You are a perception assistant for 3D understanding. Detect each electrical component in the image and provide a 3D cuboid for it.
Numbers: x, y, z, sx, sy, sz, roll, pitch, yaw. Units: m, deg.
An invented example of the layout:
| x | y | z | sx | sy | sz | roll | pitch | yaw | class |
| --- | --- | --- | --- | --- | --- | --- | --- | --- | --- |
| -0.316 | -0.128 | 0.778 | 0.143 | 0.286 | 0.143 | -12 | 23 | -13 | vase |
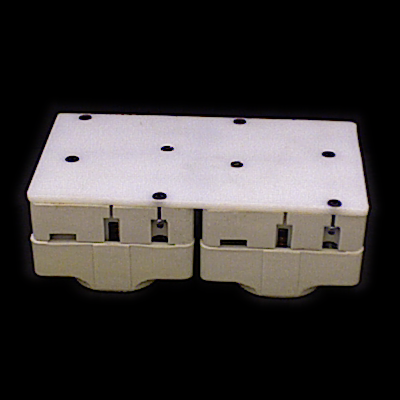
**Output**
| x | y | z | sx | sy | sz | roll | pitch | yaw | class |
| --- | --- | --- | --- | --- | --- | --- | --- | --- | --- |
| 0.000 | 0.000 | 0.633 | 0.186 | 0.061 | 0.104 | 2 | 31 | 2 | electrical component |
